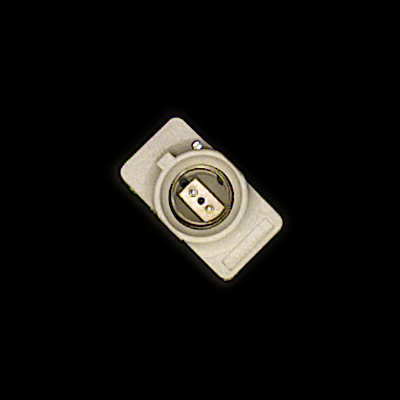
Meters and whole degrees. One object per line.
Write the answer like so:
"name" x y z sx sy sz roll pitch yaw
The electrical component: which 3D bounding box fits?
"electrical component" 0.000 0.000 0.637 0.089 0.050 0.055 45 -3 4
